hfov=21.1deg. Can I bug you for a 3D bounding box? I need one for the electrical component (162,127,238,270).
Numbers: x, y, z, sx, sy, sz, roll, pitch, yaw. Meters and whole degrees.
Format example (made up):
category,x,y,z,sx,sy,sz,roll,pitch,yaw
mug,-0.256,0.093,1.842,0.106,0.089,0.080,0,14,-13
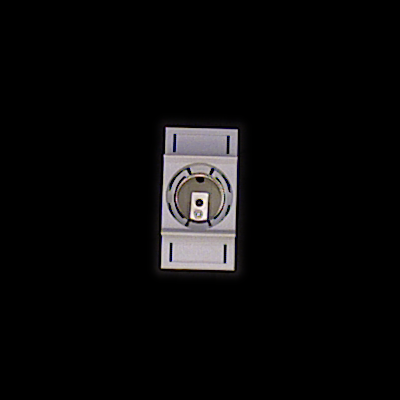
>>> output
category,x,y,z,sx,sy,sz,roll,pitch,yaw
electrical component,0.000,0.000,0.624,0.042,0.081,0.063,2,-7,-1
